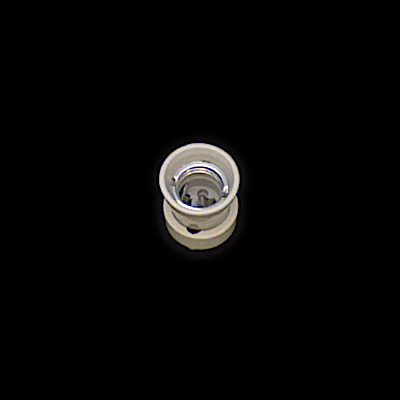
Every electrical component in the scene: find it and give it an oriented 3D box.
[{"bbox_3d":[0.000,0.000,0.627,0.045,0.045,0.055,0,-28,0],"label":"electrical component"}]
